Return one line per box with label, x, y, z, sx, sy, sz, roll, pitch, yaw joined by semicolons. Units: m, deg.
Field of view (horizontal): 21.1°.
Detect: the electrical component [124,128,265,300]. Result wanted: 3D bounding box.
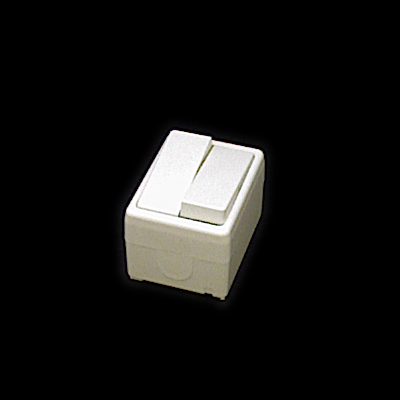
electrical component;0.000;0.000;0.633;0.061;0.061;0.095;13;43;13
